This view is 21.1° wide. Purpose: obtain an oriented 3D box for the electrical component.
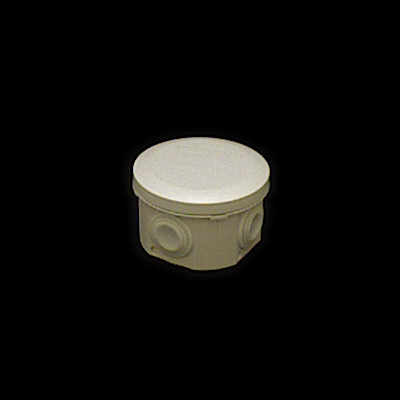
[{"bbox_3d":[0.000,0.000,0.636,0.080,0.051,0.079,1,31,0],"label":"electrical component"}]
